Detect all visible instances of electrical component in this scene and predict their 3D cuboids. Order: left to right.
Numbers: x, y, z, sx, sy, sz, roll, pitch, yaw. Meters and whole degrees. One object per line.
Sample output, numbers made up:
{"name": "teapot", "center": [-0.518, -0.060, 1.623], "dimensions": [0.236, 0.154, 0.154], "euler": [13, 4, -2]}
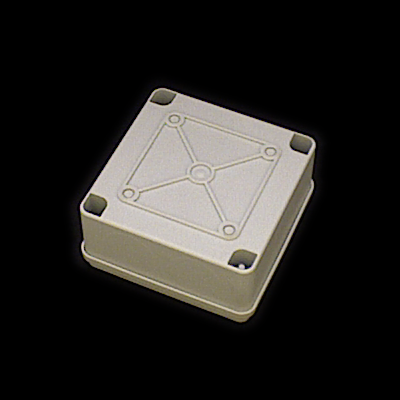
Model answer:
{"name": "electrical component", "center": [0.000, 0.000, 0.628], "dimensions": [0.108, 0.108, 0.056], "euler": [20, -34, 14]}
